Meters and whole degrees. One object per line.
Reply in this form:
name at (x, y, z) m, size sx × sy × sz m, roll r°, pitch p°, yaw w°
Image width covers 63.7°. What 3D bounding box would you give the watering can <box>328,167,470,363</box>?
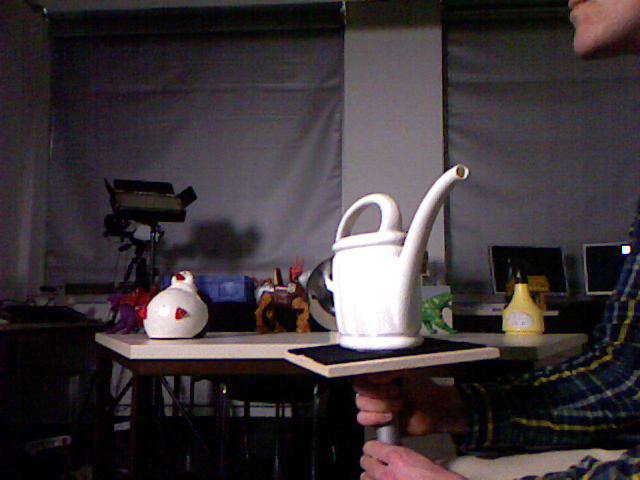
watering can at (0.081, 0.044, 0.616) m, size 0.105 × 0.227 × 0.347 m, roll -6°, pitch -6°, yaw -18°
